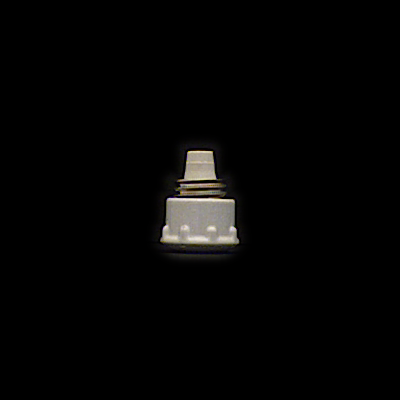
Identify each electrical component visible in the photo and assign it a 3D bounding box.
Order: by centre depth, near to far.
[{"bbox_3d":[0.000,0.000,0.654,0.048,0.062,0.048,0,2,1],"label":"electrical component"}]
